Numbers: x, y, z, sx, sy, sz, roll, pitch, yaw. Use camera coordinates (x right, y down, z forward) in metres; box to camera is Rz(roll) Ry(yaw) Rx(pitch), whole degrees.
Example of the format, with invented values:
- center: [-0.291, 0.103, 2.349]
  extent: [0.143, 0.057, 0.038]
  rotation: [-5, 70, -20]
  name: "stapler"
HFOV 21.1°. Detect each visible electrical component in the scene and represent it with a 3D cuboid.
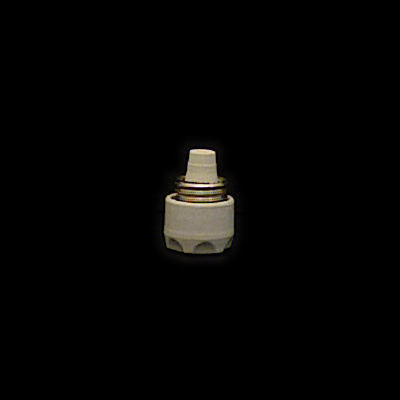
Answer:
- center: [0.000, 0.000, 0.651]
  extent: [0.043, 0.062, 0.043]
  rotation: [3, 12, 0]
  name: "electrical component"
